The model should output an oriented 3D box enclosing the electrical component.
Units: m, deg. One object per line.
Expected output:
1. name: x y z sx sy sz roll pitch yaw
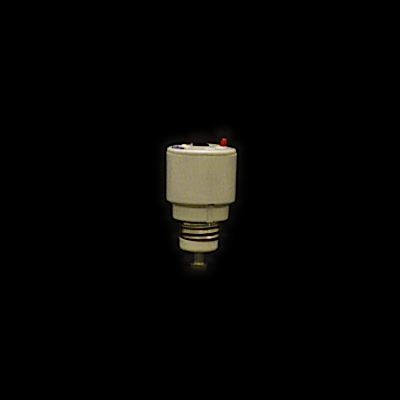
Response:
1. electrical component: 0.000 0.000 0.642 0.040 0.079 0.040 2 11 0
